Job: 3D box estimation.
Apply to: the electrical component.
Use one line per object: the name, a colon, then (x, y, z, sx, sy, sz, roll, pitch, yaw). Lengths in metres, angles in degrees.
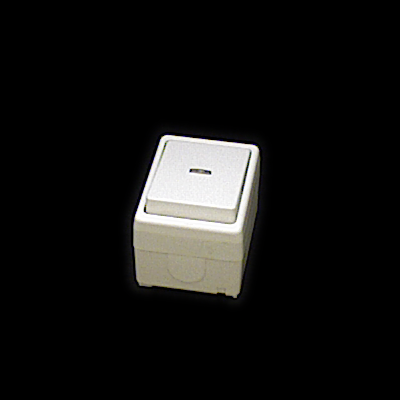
electrical component: (0.000, 0.000, 0.632, 0.061, 0.061, 0.095, 7, 42, 7)
